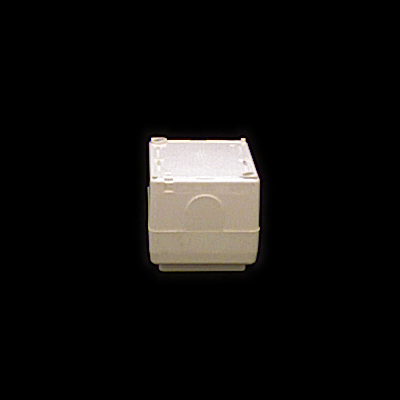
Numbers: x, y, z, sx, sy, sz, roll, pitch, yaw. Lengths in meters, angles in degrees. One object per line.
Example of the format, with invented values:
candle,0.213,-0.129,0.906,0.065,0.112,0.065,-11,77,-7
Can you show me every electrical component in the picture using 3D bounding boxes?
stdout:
electrical component,0.000,0.000,0.641,0.062,0.061,0.095,0,20,-3
